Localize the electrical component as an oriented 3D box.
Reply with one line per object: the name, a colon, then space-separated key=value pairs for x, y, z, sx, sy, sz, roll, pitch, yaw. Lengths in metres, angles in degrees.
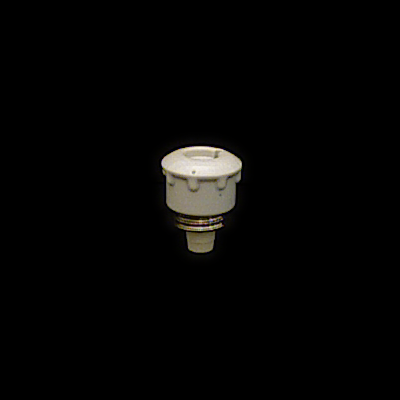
electrical component: x=0.000 y=0.000 z=0.648 sx=0.048 sy=0.063 sz=0.047 roll=1 pitch=22 yaw=0
